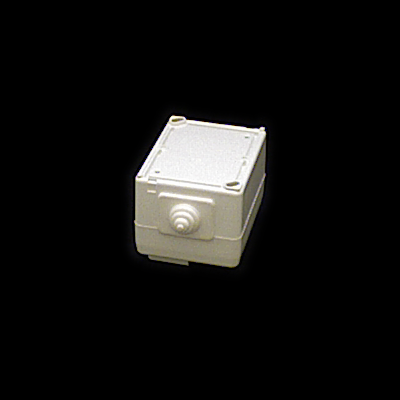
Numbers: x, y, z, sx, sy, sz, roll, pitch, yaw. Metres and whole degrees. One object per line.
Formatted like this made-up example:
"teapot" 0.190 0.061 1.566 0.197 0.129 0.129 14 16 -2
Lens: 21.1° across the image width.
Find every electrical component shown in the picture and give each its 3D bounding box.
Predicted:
"electrical component" 0.000 0.000 0.627 0.061 0.061 0.095 8 32 10
